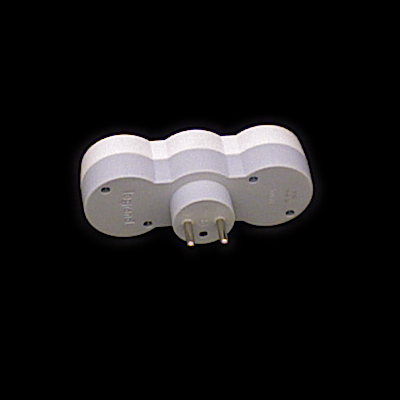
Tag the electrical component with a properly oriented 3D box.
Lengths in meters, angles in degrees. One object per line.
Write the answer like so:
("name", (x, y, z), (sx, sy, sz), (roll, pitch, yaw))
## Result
("electrical component", (0.000, 0.000, 0.634), (0.138, 0.052, 0.073), (-4, 44, -7))
